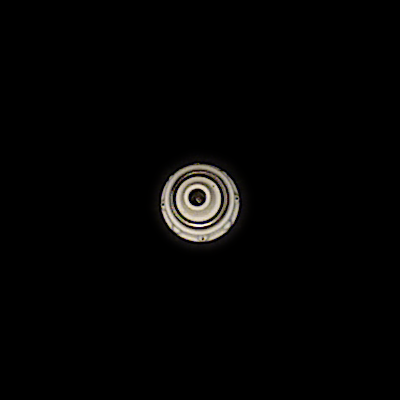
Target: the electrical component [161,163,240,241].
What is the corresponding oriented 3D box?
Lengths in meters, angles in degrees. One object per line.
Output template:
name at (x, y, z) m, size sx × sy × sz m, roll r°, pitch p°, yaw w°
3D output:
electrical component at (0.000, 0.000, 0.634) m, size 0.048 × 0.048 × 0.062 m, roll 0°, pitch -4°, yaw 1°
